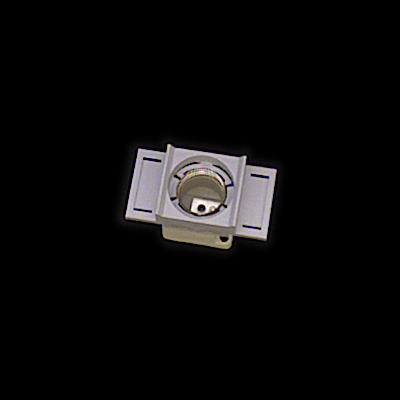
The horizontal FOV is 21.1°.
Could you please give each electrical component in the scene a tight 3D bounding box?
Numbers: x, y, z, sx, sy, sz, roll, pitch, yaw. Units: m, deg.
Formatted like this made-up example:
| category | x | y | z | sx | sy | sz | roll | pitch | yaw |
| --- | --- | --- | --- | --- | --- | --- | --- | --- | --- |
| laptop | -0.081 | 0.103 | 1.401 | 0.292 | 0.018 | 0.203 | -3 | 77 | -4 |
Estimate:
| category | x | y | z | sx | sy | sz | roll | pitch | yaw |
| --- | --- | --- | --- | --- | --- | --- | --- | --- | --- |
| electrical component | 0.000 | 0.000 | 0.624 | 0.081 | 0.042 | 0.063 | 9 | -17 | 3 |
